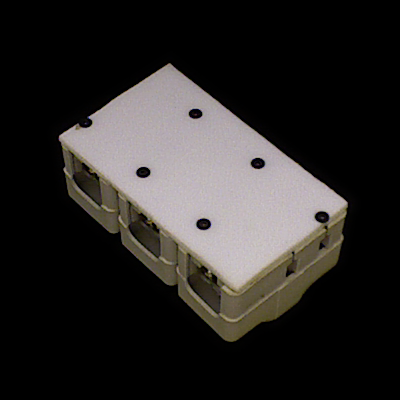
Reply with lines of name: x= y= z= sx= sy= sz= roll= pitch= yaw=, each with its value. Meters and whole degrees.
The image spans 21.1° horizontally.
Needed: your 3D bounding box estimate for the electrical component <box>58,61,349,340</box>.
electrical component: x=0.000 y=0.000 z=0.633 sx=0.089 sy=0.062 sz=0.149 roll=-36 pitch=61 yaw=-25
